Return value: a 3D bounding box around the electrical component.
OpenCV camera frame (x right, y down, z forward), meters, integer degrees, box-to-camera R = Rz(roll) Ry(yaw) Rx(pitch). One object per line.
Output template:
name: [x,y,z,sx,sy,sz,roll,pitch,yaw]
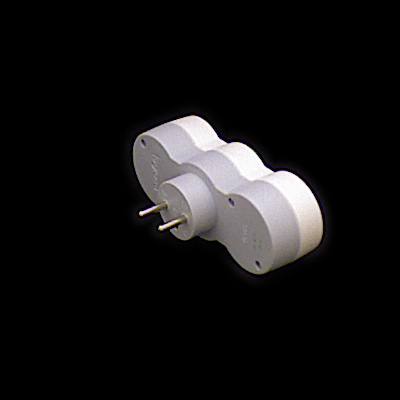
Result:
electrical component: [0.000,0.000,0.635,0.073,0.053,0.137,-24,40,-31]
